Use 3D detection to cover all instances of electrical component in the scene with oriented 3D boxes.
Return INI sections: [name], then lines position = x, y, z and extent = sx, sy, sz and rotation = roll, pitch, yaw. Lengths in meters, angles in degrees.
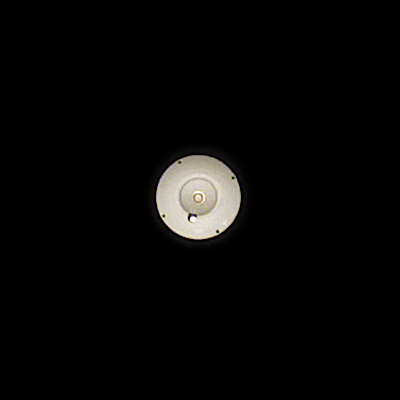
[electrical component]
position = 0.000, 0.000, 0.634
extent = 0.048, 0.048, 0.062
rotation = 0, -6, 1
